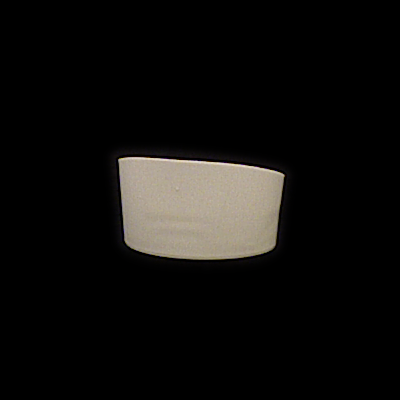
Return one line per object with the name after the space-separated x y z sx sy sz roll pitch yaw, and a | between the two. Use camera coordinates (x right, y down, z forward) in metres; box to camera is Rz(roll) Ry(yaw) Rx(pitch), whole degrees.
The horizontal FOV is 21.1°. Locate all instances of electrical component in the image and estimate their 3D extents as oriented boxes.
0.000 0.000 0.642 0.099 0.064 0.098 1 11 0 | electrical component
